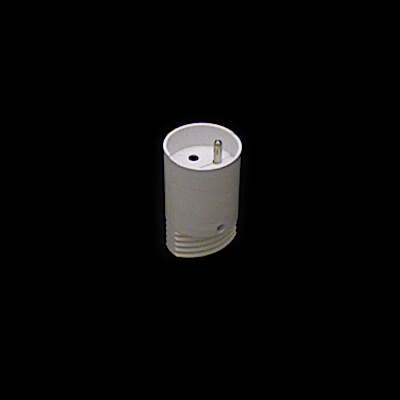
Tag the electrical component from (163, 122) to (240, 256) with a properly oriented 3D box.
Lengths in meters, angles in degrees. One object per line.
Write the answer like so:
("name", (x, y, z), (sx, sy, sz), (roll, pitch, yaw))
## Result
("electrical component", (0.000, 0.000, 0.625), (0.043, 0.082, 0.042), (1, 42, -1))
